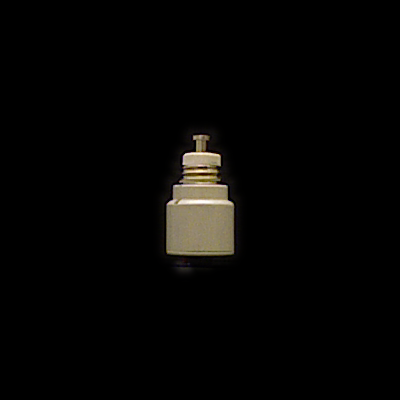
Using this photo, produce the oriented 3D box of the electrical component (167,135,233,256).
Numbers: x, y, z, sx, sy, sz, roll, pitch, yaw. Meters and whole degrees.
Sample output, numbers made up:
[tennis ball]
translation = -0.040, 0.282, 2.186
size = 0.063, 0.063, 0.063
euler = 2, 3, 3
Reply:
[electrical component]
translation = 0.000, 0.000, 0.651
size = 0.040, 0.078, 0.040
euler = 1, 2, 0
